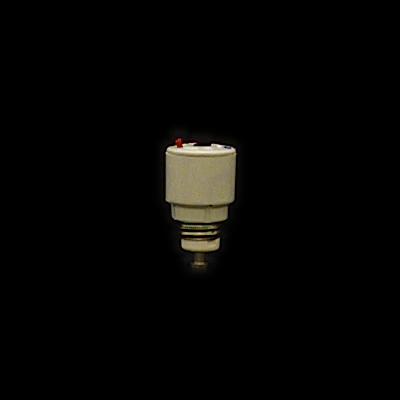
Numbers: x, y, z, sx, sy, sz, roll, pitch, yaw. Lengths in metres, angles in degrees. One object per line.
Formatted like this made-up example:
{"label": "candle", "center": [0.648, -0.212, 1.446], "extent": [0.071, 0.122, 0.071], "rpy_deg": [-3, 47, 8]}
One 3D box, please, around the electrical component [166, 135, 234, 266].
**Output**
{"label": "electrical component", "center": [0.000, 0.000, 0.642], "extent": [0.040, 0.079, 0.040], "rpy_deg": [1, 12, 0]}
